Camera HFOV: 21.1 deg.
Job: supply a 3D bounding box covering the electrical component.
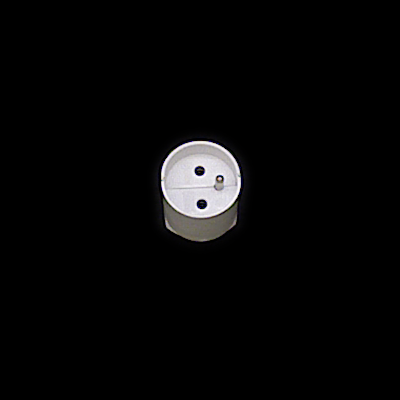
[{"bbox_3d":[0.000,0.000,0.616,0.043,0.043,0.080,0,-16,-1],"label":"electrical component"}]
